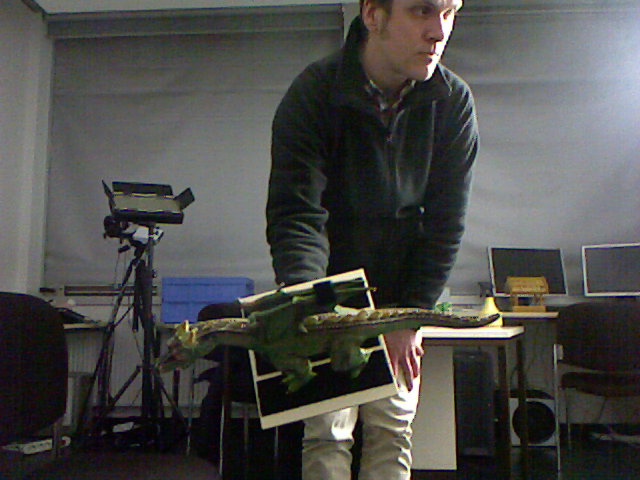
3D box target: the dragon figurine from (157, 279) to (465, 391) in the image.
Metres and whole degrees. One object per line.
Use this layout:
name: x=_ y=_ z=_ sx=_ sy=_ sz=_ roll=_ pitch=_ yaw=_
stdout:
dragon figurine: x=-0.001 y=0.109 z=0.664 sx=0.411 sy=0.125 sz=0.239 roll=-14 pitch=-22 yaw=0
